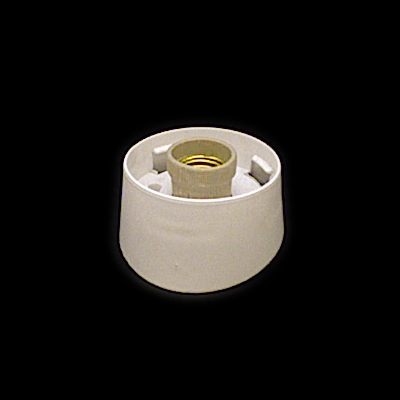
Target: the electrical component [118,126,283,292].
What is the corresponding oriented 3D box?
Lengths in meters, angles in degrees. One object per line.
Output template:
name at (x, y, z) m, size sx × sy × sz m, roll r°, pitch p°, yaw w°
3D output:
electrical component at (0.000, 0.000, 0.634) m, size 0.099 × 0.065 × 0.097 m, roll 1°, pitch 32°, yaw 0°
